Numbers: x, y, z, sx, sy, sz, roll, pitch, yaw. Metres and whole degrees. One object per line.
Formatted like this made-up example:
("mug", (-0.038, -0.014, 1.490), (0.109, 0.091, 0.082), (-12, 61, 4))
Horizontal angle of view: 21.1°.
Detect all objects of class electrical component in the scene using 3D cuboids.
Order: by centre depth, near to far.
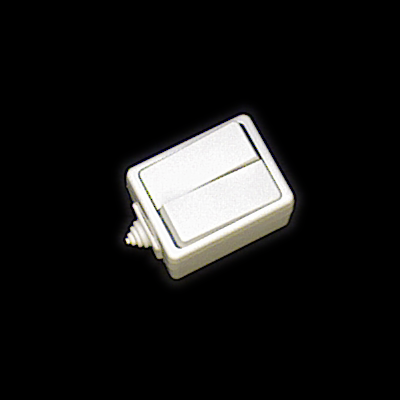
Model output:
("electrical component", (0.000, 0.000, 0.626), (0.096, 0.062, 0.060), (-26, -15, -8))
